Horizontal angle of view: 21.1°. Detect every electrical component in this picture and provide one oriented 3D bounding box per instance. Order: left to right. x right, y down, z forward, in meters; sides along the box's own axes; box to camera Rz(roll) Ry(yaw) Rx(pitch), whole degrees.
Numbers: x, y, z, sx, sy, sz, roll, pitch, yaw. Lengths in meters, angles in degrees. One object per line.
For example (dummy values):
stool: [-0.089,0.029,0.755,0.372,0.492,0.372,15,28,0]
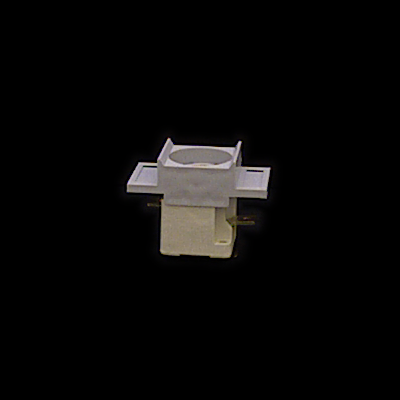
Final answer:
electrical component: [0.000,0.000,0.638,0.081,0.064,0.041,3,20,6]
